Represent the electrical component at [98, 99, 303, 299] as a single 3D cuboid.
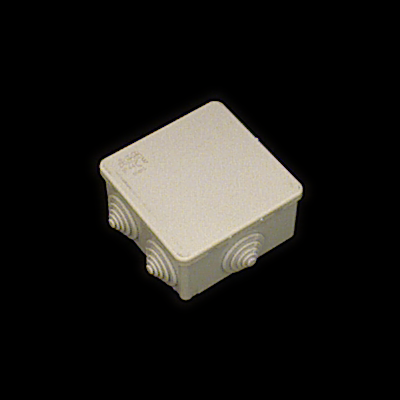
[{"bbox_3d":[0.000,0.000,0.640,0.100,0.099,0.048,-30,-31,-21],"label":"electrical component"}]
